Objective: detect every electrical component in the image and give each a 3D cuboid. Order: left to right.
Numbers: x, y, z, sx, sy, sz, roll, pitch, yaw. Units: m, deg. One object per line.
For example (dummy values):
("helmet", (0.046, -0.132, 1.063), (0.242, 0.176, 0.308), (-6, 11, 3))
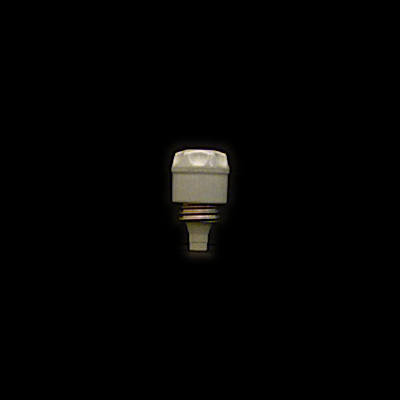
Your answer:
("electrical component", (0.000, 0.000, 0.655), (0.035, 0.061, 0.035), (1, 2, 0))
